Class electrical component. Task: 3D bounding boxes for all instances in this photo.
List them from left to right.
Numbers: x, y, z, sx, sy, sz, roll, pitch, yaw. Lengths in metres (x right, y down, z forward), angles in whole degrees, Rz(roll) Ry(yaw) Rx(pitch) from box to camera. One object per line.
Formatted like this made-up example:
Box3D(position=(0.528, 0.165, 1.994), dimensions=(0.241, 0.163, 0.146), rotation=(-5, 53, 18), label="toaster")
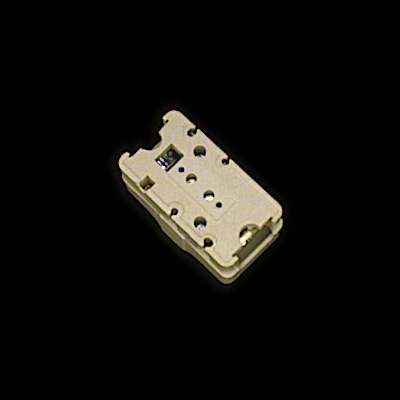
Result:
Box3D(position=(0.000, 0.000, 0.636), dimensions=(0.089, 0.050, 0.055), rotation=(43, -10, 12), label="electrical component")
